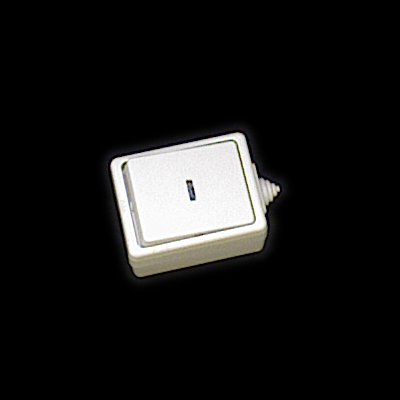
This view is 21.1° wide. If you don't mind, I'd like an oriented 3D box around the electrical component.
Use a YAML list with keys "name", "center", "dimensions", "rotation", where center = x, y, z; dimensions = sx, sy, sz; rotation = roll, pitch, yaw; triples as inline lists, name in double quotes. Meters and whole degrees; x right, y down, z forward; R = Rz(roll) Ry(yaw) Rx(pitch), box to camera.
- name: "electrical component"
  center: [0.000, 0.000, 0.626]
  dimensions: [0.096, 0.062, 0.060]
  rotation: [-12, -17, -4]
